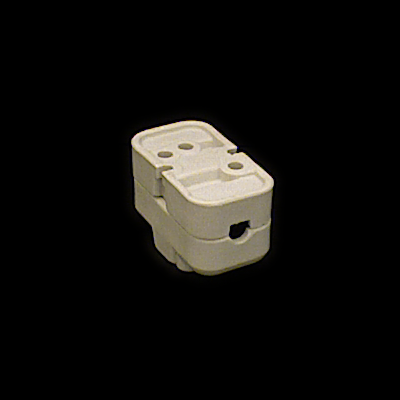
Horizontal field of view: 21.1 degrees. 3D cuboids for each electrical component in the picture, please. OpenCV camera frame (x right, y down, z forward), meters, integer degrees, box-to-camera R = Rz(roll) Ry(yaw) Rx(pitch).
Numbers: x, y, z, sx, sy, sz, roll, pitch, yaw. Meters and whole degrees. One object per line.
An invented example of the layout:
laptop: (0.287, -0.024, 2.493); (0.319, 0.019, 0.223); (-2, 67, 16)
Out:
electrical component: (0.000, 0.000, 0.639); (0.054, 0.060, 0.093); (-16, 37, -25)
